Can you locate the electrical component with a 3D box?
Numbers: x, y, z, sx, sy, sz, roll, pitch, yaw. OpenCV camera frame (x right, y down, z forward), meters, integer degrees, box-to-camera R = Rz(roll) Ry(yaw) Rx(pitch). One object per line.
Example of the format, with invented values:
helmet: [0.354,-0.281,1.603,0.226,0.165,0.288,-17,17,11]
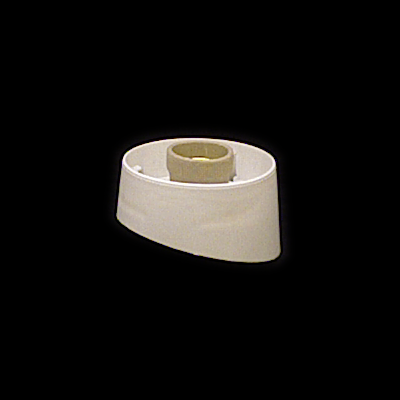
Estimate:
electrical component: [0.000,0.000,0.637,0.099,0.065,0.097,1,20,0]
